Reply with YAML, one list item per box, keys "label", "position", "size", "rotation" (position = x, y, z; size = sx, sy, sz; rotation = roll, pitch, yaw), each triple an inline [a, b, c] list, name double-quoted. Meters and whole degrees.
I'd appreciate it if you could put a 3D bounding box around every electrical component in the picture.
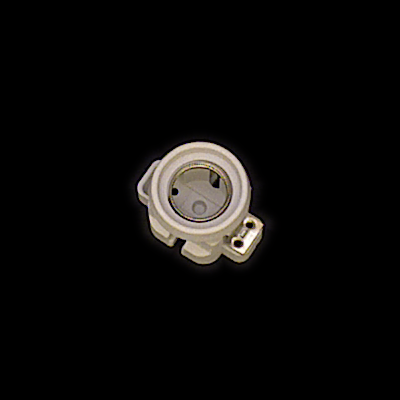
- label: "electrical component"
  position: [0.000, 0.000, 0.629]
  size: [0.078, 0.058, 0.056]
  rotation: [32, -14, 9]
